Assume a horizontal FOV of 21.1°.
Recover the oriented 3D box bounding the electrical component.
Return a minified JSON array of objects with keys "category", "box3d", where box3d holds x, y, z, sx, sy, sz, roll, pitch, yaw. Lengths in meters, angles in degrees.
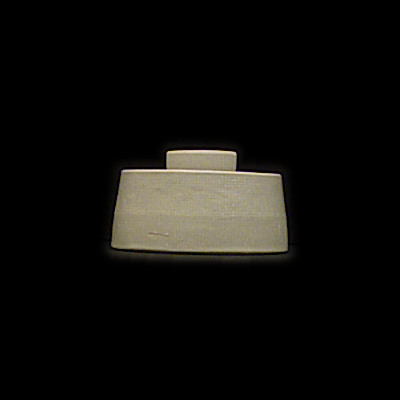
[{"category":"electrical component","box3d":[0.000,0.000,0.658,0.108,0.060,0.108,1,0,1]}]
